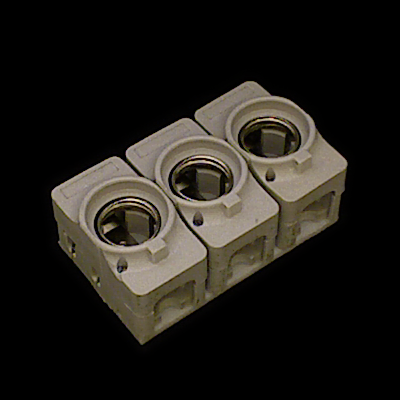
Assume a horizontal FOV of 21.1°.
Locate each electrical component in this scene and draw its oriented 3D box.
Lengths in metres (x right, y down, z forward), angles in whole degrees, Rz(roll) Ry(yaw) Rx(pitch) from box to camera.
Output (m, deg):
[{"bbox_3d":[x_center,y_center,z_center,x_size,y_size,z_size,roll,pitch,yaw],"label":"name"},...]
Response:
[{"bbox_3d":[0.000,0.000,0.633,0.149,0.089,0.062,-32,-31,-22],"label":"electrical component"}]
